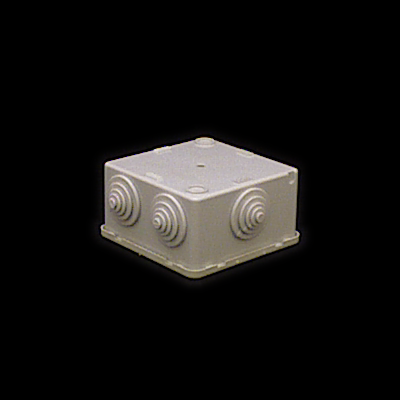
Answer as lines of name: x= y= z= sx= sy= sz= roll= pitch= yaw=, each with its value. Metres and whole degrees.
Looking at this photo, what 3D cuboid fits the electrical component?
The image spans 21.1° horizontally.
electrical component: x=0.000 y=0.000 z=0.640 sx=0.099 sy=0.049 sz=0.099 roll=-17 pitch=27 yaw=-39
